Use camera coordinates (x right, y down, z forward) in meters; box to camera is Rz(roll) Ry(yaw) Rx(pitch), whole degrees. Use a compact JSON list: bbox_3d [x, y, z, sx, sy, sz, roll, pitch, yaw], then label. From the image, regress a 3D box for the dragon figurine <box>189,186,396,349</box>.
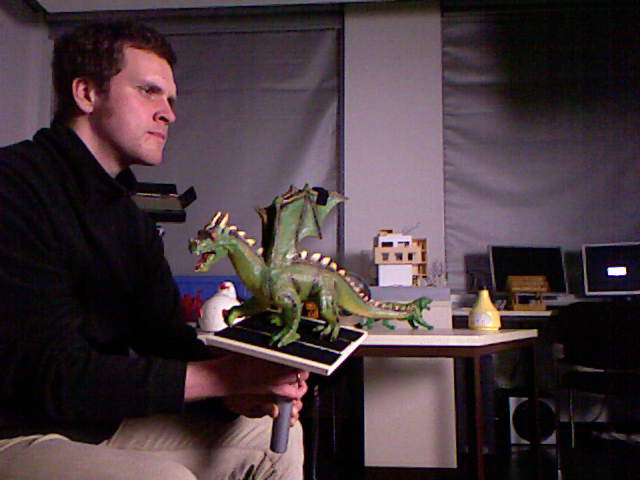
[{"bbox_3d":[-0.021,0.034,0.835,0.411,0.241,0.123,-1,14,-35],"label":"dragon figurine"}]
